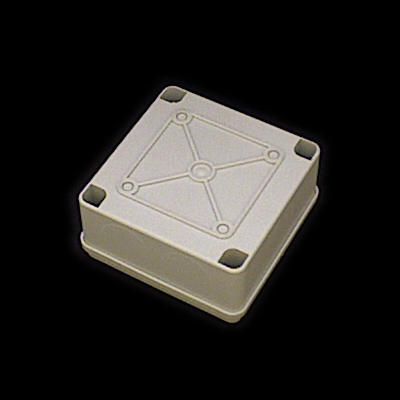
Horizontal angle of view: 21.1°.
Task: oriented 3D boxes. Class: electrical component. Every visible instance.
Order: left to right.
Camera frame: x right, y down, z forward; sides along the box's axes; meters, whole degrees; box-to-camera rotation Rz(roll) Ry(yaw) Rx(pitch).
[{"bbox_3d":[0.000,0.000,0.630,0.108,0.108,0.056,24,-34,17],"label":"electrical component"}]
